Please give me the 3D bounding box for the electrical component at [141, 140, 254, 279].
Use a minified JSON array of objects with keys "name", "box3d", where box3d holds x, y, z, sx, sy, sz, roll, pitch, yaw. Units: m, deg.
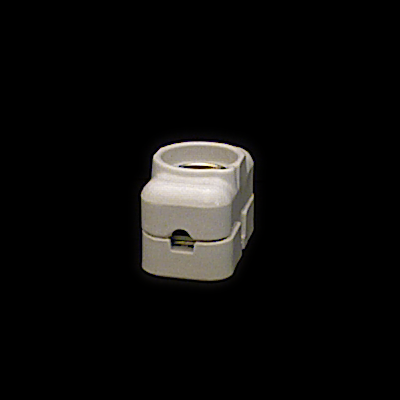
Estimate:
[{"name":"electrical component","box3d":[0.000,0.000,0.645,0.053,0.060,0.094,5,22,11]}]
